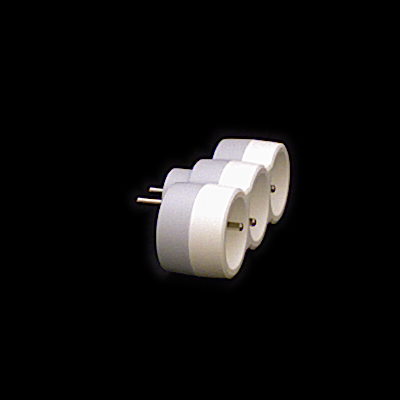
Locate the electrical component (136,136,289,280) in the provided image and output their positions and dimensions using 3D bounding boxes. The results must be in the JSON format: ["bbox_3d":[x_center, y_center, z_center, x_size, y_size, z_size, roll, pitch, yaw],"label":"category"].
[{"bbox_3d":[0.000,0.000,0.638,0.073,0.053,0.137,6,22,19],"label":"electrical component"}]
